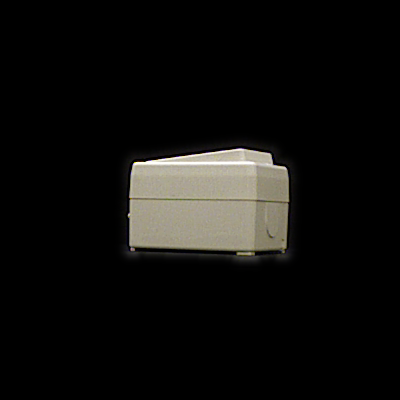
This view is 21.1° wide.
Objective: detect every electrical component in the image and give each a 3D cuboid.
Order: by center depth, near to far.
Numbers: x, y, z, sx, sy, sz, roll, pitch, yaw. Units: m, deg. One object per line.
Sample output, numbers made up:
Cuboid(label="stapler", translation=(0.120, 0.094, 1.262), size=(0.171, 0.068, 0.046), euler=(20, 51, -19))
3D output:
Cuboid(label="electrical component", translation=(0.000, 0.000, 0.651), size=(0.096, 0.061, 0.062), euler=(1, 0, 24))
